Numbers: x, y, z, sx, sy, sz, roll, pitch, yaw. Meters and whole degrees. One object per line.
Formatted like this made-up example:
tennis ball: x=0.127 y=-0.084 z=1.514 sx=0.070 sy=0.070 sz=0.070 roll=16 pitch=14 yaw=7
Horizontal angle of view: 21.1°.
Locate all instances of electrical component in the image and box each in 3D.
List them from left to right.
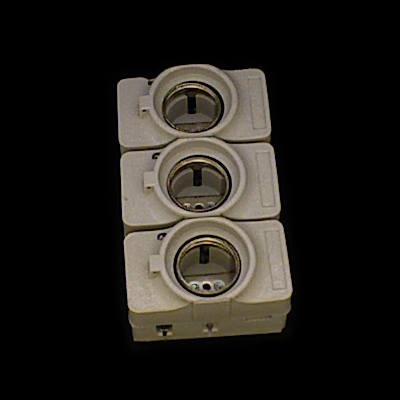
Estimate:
electrical component: x=0.000 y=0.000 z=0.631 sx=0.089 sy=0.149 sz=0.062 roll=-4 pitch=-27 yaw=-2
